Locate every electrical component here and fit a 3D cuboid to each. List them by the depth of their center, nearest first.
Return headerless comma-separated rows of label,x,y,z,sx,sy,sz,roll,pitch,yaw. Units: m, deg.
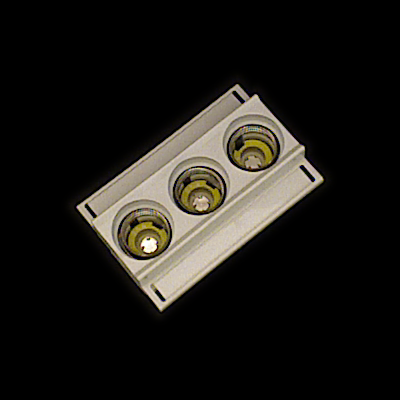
electrical component,0.000,0.000,0.637,0.122,0.078,0.063,-38,-15,-10
